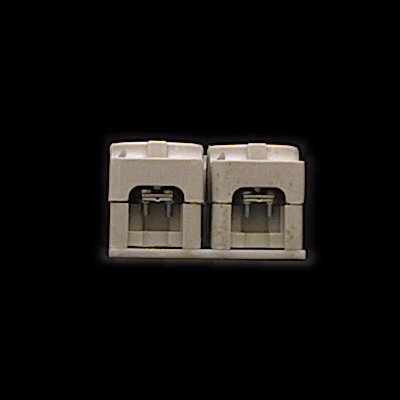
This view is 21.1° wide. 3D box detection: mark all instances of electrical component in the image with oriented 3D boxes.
[{"bbox_3d":[0.000,0.000,0.649,0.105,0.060,0.186,1,0,-3],"label":"electrical component"}]
